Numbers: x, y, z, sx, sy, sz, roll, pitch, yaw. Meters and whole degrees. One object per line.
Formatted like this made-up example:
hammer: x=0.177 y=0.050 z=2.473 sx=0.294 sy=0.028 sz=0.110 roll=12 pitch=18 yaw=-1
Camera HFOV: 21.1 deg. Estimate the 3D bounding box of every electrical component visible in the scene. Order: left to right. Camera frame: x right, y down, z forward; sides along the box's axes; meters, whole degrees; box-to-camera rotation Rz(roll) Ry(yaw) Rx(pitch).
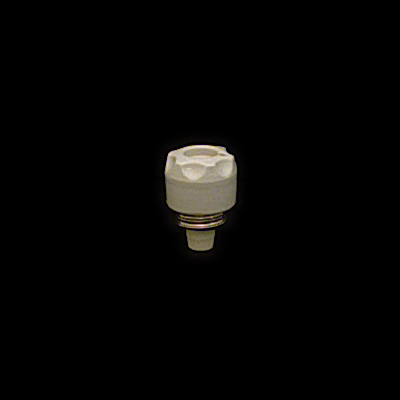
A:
electrical component: x=0.000 y=0.000 z=0.645 sx=0.043 sy=0.063 sz=0.043 roll=0 pitch=22 yaw=0
